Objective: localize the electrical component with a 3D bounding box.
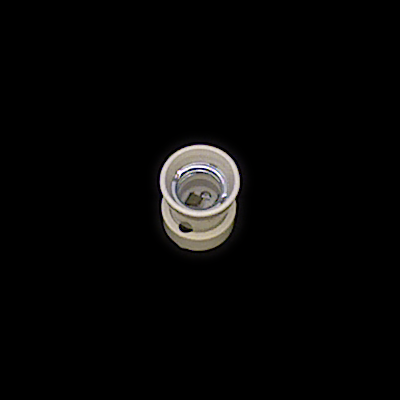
[{"bbox_3d":[0.000,0.000,0.629,0.045,0.045,0.055,0,-27,-1],"label":"electrical component"}]
